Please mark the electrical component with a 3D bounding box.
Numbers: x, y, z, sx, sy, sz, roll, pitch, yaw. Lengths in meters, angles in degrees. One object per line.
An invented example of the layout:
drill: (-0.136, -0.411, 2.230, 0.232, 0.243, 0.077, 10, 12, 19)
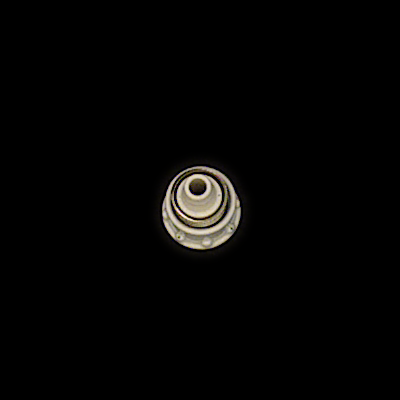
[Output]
electrical component: (0.000, 0.000, 0.633, 0.048, 0.048, 0.061, 0, -16, 2)
